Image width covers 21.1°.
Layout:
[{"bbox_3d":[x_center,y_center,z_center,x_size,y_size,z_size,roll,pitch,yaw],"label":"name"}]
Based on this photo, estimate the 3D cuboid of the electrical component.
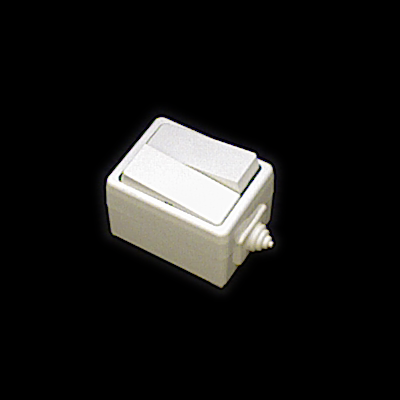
[{"bbox_3d":[0.000,0.000,0.627,0.096,0.062,0.061,25,-34,18],"label":"electrical component"}]
